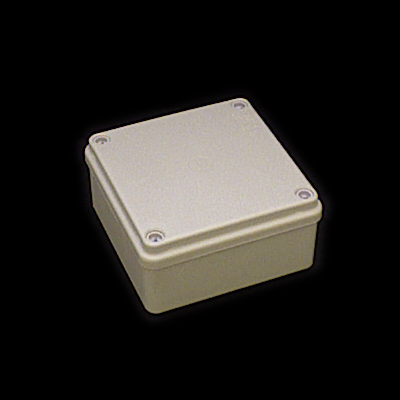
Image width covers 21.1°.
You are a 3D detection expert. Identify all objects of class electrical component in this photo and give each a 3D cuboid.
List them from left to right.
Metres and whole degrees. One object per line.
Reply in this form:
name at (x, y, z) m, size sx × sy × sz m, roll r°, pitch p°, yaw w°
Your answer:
electrical component at (0.000, 0.000, 0.631) m, size 0.109 × 0.056 × 0.107 m, roll -16°, pitch 45°, yaw -17°
